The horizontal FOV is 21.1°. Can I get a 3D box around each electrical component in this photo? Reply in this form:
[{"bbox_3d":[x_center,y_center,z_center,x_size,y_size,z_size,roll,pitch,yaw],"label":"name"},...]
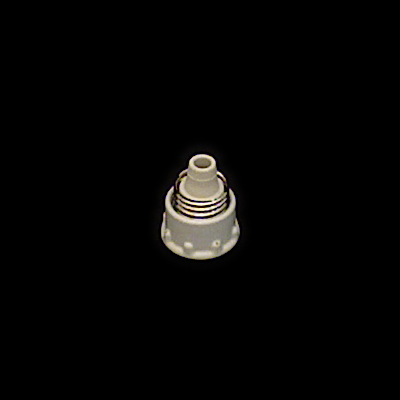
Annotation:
[{"bbox_3d":[0.000,0.000,0.638,0.048,0.062,0.047,1,43,-1],"label":"electrical component"}]
